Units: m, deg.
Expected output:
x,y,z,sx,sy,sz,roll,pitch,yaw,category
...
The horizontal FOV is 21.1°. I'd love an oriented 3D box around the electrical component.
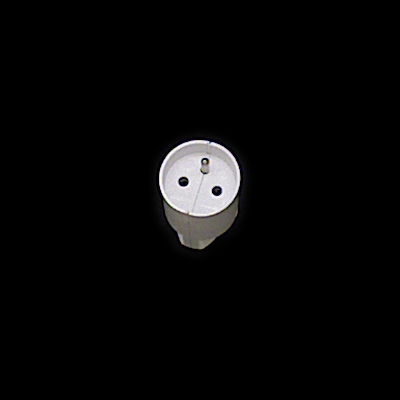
x,y,z,sx,sy,sz,roll,pitch,yaw,category
0.000,0.000,0.616,0.043,0.043,0.080,0,-17,-1,electrical component
